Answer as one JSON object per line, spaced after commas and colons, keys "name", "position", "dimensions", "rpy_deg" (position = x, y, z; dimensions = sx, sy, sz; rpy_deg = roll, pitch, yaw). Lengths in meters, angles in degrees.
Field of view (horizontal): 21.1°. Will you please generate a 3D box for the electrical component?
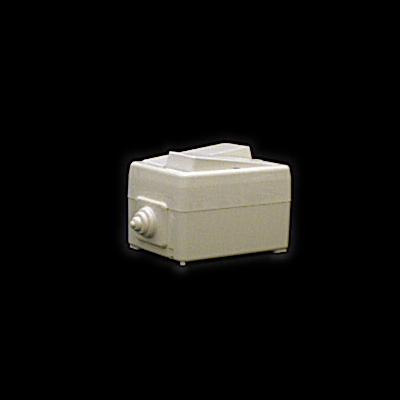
{"name": "electrical component", "position": [0.000, 0.000, 0.643], "dimensions": [0.096, 0.061, 0.061], "rpy_deg": [-6, 12, -34]}
